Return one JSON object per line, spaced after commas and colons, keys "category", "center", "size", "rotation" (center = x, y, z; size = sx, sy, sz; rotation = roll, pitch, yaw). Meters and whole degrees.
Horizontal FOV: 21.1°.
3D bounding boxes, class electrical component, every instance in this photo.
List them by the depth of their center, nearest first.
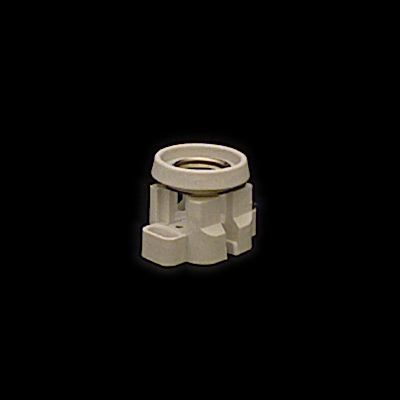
{"category": "electrical component", "center": [0.000, 0.000, 0.641], "size": [0.078, 0.057, 0.057], "rotation": [-19, 29, -42]}
